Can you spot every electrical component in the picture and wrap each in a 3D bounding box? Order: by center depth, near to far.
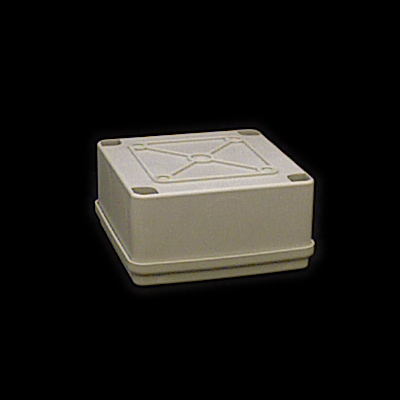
[{"bbox_3d":[0.000,0.000,0.636,0.109,0.057,0.107,-5,22,-15],"label":"electrical component"}]
